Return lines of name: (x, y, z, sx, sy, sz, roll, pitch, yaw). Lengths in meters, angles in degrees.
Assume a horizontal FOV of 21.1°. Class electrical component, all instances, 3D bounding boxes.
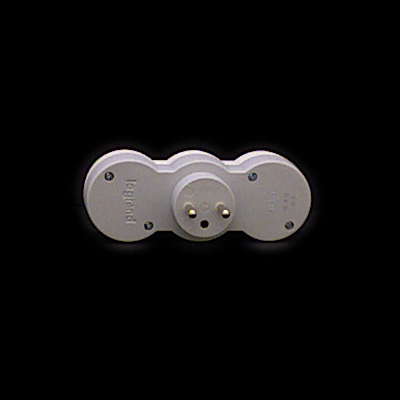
electrical component: (0.000, 0.000, 0.646, 0.138, 0.052, 0.073, 0, 12, -9)
